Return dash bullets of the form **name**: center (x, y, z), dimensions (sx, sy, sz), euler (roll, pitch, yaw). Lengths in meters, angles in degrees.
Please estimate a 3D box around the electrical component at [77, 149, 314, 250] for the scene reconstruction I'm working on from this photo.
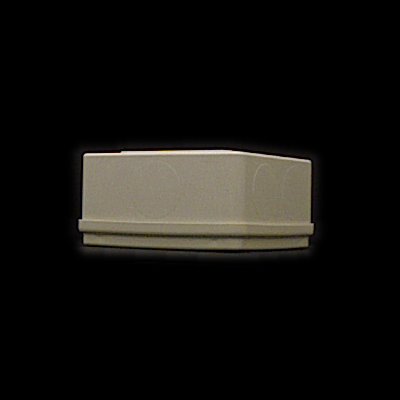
- **electrical component**: center (0.000, 0.000, 0.647), dimensions (0.108, 0.056, 0.109), euler (1, 0, 28)
